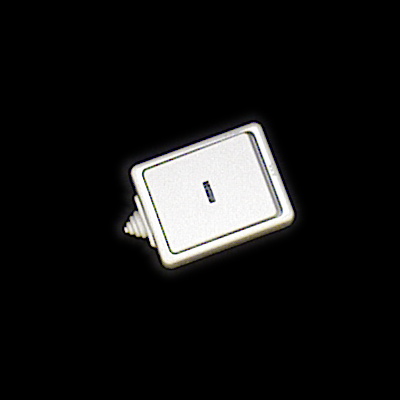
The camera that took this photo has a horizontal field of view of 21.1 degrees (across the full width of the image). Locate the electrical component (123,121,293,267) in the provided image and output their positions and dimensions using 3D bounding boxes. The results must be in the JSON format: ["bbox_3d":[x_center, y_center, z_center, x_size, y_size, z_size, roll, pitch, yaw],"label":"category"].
[{"bbox_3d":[0.000,0.000,0.626,0.096,0.062,0.061,-20,-6,-2],"label":"electrical component"}]
